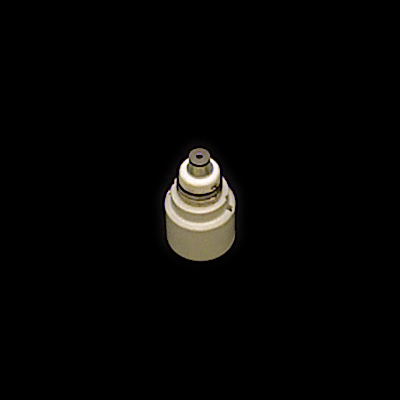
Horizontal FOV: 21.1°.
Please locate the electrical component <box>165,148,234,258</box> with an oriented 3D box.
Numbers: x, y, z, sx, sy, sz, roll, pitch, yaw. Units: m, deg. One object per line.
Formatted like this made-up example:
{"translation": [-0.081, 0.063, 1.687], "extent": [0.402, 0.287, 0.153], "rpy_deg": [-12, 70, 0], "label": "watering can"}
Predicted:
{"translation": [0.000, 0.000, 0.620], "extent": [0.040, 0.040, 0.079], "rpy_deg": [0, -38, 1], "label": "electrical component"}
